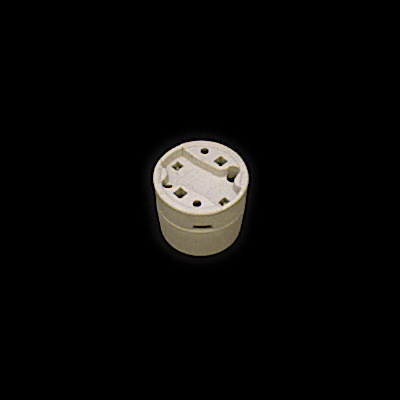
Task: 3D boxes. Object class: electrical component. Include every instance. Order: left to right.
[{"bbox_3d":[0.000,0.000,0.635,0.055,0.055,0.047,0,-38,-1],"label":"electrical component"}]
